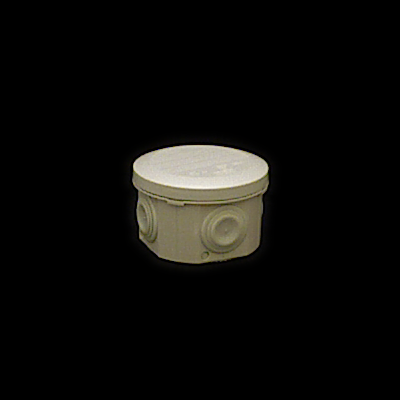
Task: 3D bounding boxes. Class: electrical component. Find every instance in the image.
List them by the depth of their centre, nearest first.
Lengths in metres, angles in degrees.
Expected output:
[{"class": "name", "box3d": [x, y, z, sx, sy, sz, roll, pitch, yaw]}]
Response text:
[{"class": "electrical component", "box3d": [0.000, 0.000, 0.638, 0.080, 0.051, 0.079, 1, 21, 0]}]
